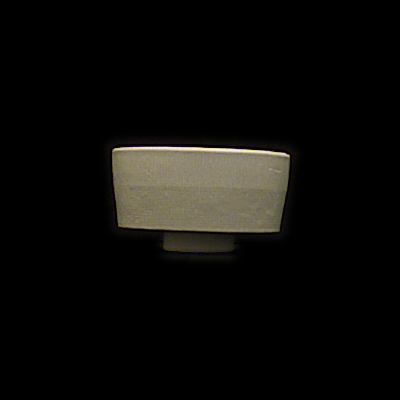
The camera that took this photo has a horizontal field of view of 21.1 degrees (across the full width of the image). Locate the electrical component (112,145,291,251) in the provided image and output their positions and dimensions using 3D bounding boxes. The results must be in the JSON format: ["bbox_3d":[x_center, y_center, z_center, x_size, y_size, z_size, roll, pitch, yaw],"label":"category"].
[{"bbox_3d":[0.000,0.000,0.653,0.108,0.060,0.108,2,1,1],"label":"electrical component"}]
